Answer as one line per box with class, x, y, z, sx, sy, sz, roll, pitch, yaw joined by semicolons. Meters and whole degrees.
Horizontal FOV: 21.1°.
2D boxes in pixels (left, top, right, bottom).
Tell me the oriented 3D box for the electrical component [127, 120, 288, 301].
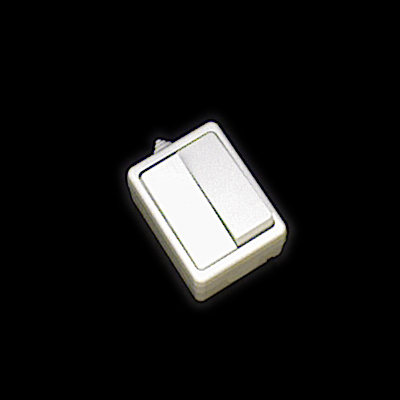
electrical component;0.000;0.000;0.627;0.062;0.096;0.060;-31;-14;-9
